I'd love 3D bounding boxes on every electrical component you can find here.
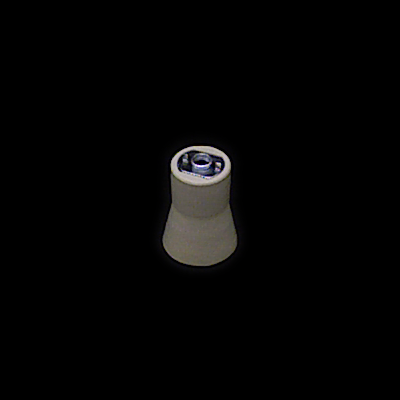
[{"bbox_3d":[0.000,0.000,0.628,0.044,0.066,0.044,0,43,0],"label":"electrical component"}]
